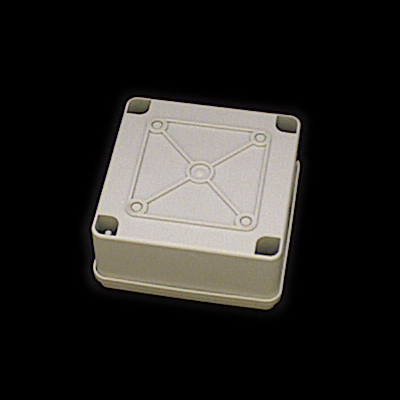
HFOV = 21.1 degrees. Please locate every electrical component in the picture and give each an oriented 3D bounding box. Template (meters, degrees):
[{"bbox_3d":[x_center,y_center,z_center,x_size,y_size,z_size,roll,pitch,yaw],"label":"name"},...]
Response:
[{"bbox_3d":[0.000,0.000,0.627,0.108,0.108,0.056,7,-37,6],"label":"electrical component"}]
